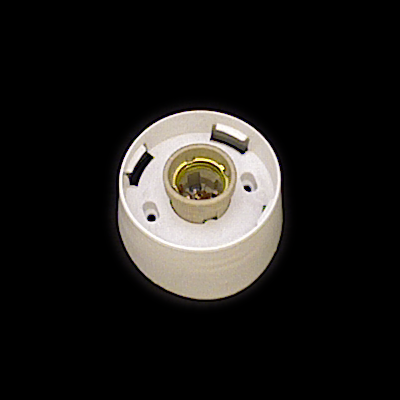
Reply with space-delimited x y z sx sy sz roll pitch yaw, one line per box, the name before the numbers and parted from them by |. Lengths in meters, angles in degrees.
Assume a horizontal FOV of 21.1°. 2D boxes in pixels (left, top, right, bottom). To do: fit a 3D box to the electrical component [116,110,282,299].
electrical component | 0.000 0.000 0.625 0.099 0.099 0.064 0 -27 0
